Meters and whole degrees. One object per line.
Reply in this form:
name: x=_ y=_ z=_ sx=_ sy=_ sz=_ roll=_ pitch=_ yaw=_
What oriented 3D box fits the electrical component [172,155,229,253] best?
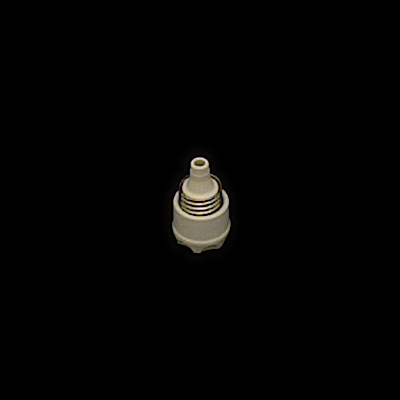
electrical component: x=0.000 y=0.000 z=0.641 sx=0.035 sy=0.062 sz=0.035 roll=-1 pitch=42 yaw=1
